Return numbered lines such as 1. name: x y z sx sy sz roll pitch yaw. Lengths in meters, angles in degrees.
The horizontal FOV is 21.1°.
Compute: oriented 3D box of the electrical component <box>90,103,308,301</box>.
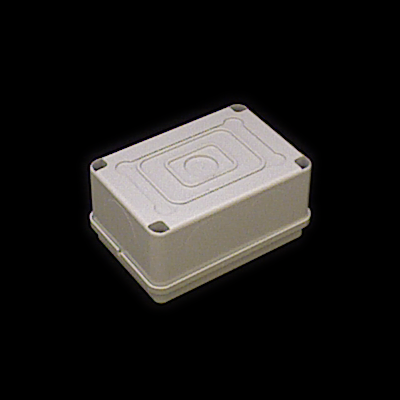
1. electrical component: 0.000 0.000 0.631 0.113 0.057 0.077 -24 48 -25
